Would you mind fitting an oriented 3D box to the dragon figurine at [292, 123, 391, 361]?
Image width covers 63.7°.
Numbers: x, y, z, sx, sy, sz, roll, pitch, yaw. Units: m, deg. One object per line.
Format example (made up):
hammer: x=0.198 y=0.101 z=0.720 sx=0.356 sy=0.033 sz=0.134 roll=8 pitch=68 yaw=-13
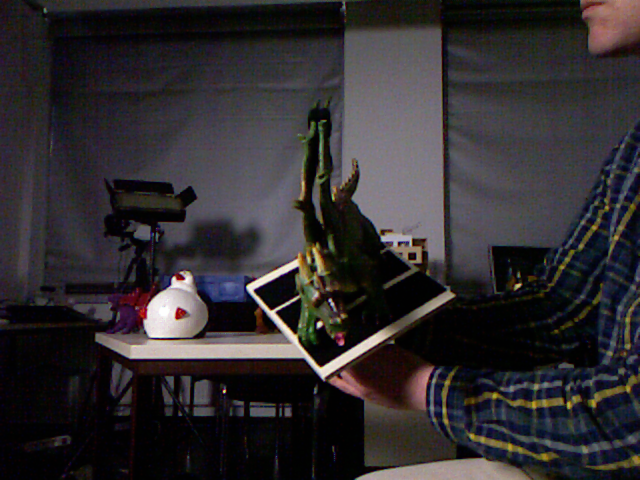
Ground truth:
dragon figurine: x=0.022 y=-0.029 z=0.612 sx=0.122 sy=0.422 sz=0.237 roll=-2 pitch=-44 yaw=6
